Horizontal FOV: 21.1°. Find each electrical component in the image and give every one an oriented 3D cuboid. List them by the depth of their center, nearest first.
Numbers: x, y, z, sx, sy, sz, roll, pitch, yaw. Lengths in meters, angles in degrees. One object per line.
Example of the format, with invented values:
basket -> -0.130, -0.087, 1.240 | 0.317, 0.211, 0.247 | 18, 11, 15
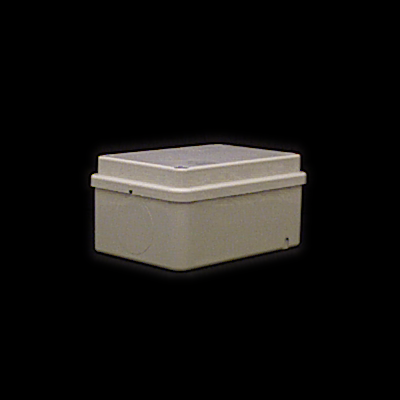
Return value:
electrical component -> 0.000, 0.000, 0.643 | 0.077, 0.057, 0.113 | 11, 14, 42
